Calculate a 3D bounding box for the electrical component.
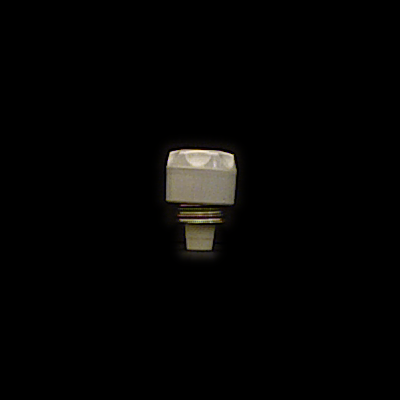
[{"bbox_3d":[0.000,0.000,0.656,0.043,0.062,0.043,2,2,0],"label":"electrical component"}]
